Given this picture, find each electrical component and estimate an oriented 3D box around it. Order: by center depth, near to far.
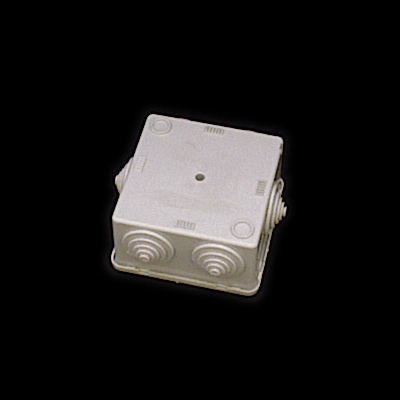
[{"bbox_3d":[0.000,0.000,0.632,0.099,0.099,0.049,11,-36,7],"label":"electrical component"}]
